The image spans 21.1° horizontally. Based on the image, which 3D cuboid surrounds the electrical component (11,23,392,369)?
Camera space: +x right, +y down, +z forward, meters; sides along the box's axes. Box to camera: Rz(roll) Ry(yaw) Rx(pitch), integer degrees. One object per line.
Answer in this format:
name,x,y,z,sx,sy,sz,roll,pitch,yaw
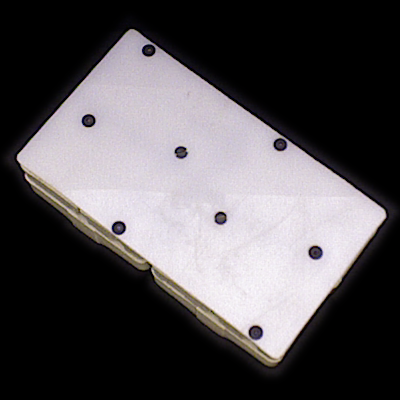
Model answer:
electrical component,0.000,0.000,0.625,0.186,0.106,0.060,37,-14,10
